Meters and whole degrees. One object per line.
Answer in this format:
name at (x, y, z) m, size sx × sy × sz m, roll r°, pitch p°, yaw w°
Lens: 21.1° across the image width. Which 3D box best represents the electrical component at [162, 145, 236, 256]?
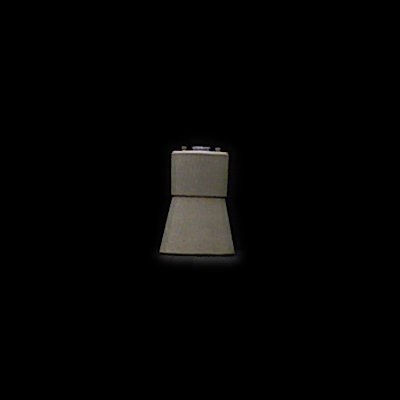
electrical component at (0.000, 0.000, 0.648) m, size 0.044 × 0.065 × 0.044 m, roll 2°, pitch 2°, yaw 0°
